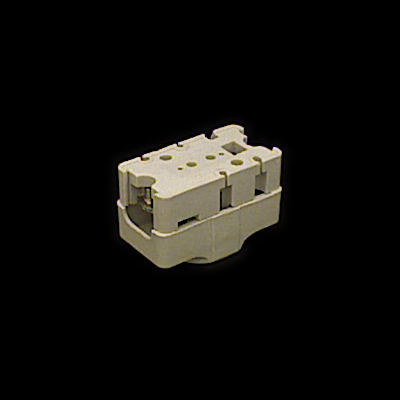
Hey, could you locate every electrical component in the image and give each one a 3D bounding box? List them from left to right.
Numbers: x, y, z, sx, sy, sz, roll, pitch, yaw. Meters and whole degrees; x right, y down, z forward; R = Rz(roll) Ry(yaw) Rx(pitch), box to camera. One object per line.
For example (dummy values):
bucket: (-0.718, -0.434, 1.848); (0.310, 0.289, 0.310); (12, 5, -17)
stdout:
electrical component: (0.000, 0.000, 0.643); (0.090, 0.056, 0.049); (-21, 38, -32)
